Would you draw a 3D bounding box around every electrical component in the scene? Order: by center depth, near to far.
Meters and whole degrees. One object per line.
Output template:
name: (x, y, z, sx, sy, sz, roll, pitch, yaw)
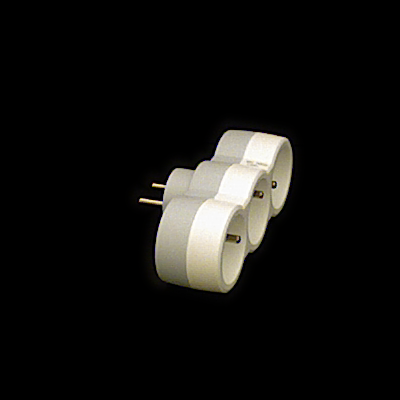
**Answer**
electrical component: (0.000, 0.000, 0.646, 0.073, 0.053, 0.137, 11, 33, 18)
